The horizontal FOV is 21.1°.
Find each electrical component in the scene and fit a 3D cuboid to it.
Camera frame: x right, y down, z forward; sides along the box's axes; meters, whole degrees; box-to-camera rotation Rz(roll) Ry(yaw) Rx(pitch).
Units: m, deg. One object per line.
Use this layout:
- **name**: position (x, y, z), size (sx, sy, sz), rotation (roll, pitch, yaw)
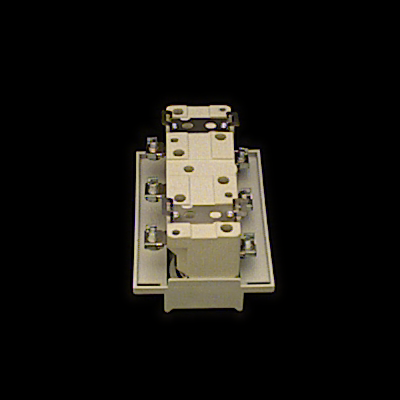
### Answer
- **electrical component**: position (0.000, 0.000, 0.639), size (0.079, 0.063, 0.120), rotation (-1, 43, -2)
